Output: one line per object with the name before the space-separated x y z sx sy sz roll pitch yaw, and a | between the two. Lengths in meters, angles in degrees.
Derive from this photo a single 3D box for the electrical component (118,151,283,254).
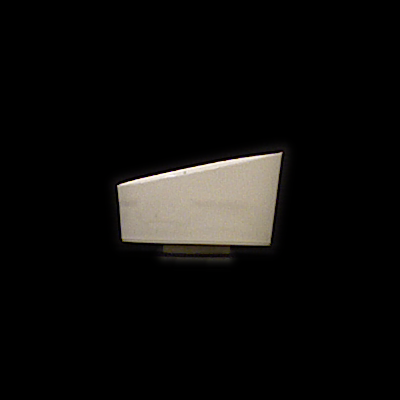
electrical component | 0.000 0.000 0.650 0.099 0.064 0.099 2 -1 0
